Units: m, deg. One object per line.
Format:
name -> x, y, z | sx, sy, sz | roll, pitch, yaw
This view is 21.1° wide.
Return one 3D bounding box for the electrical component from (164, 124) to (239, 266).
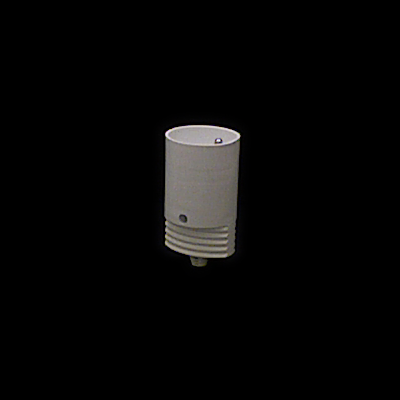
electrical component -> 0.000, 0.000, 0.636 | 0.043, 0.082, 0.042 | 1, 22, 0
